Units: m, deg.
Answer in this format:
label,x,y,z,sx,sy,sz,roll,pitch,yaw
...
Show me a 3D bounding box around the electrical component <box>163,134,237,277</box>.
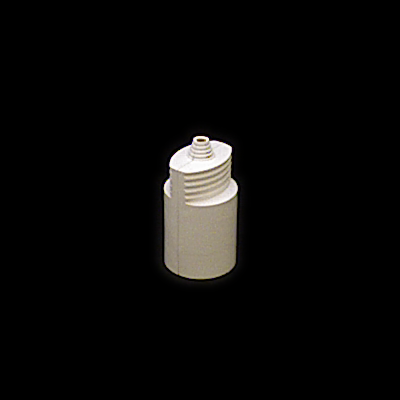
label,x,y,z,sx,sy,sz,roll,pitch,yaw
electrical component,0.000,0.000,0.629,0.043,0.082,0.042,1,31,0
